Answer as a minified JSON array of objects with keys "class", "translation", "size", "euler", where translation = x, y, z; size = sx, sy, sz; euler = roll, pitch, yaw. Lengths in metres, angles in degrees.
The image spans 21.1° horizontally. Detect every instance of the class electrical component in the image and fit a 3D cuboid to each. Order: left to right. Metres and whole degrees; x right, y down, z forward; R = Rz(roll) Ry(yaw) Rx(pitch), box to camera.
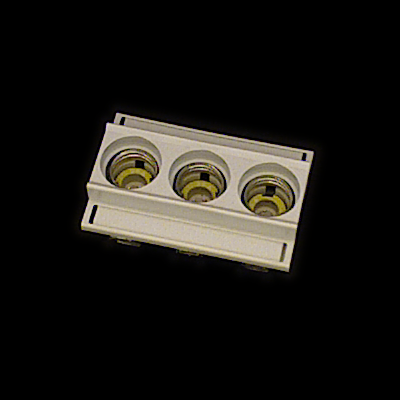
[{"class":"electrical component","translation":[0.000,0.000,0.638],"size":[0.121,0.078,0.063],"euler":[12,-28,6]}]
